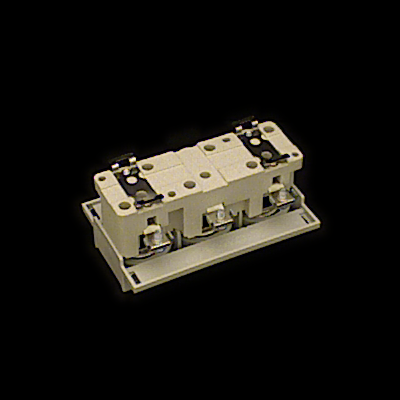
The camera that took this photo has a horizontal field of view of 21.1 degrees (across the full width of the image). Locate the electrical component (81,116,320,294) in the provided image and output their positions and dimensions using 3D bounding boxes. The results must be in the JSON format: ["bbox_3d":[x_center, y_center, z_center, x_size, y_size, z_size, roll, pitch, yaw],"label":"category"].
[{"bbox_3d":[0.000,0.000,0.639,0.122,0.063,0.077,-18,45,-20],"label":"electrical component"}]
